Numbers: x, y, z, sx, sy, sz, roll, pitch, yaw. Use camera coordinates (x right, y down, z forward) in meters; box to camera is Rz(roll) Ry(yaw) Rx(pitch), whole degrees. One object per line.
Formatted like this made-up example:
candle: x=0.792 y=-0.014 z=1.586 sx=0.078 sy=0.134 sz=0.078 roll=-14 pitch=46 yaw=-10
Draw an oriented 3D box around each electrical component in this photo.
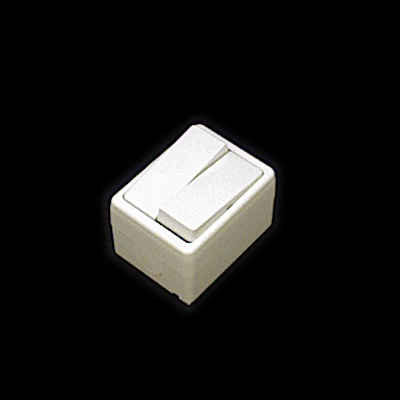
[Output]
electrical component: x=0.000 y=0.000 z=0.629 sx=0.061 sy=0.061 sz=0.096 roll=34 pitch=59 yaw=23
